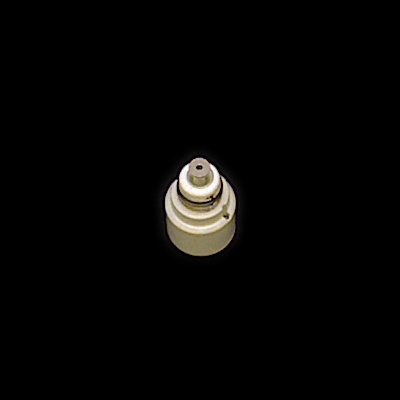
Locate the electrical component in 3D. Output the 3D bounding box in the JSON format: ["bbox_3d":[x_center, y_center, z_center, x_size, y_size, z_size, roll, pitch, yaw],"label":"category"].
[{"bbox_3d":[0.000,0.000,0.618,0.040,0.040,0.078,0,-27,1],"label":"electrical component"}]
